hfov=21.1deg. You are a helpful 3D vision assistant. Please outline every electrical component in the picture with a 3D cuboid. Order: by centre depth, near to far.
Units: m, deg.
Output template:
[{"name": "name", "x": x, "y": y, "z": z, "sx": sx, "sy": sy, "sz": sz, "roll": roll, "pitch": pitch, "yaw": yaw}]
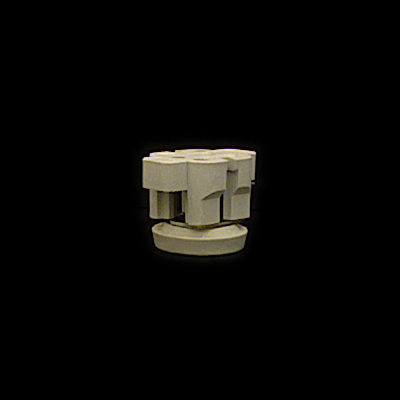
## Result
[{"name": "electrical component", "x": 0.000, "y": 0.000, "z": 0.653, "sx": 0.057, "sy": 0.057, "sz": 0.079, "roll": 10, "pitch": 13, "yaw": 41}]
